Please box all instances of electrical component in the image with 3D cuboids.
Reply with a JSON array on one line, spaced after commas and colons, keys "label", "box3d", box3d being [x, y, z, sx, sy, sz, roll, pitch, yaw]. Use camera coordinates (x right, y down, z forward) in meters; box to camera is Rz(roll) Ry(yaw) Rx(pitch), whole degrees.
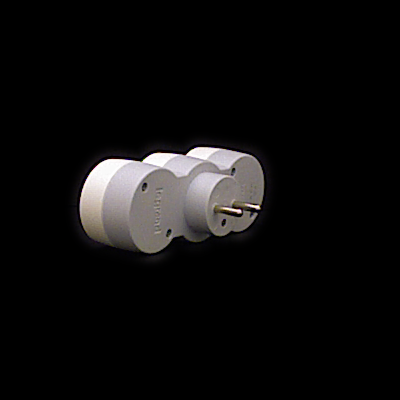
[{"label": "electrical component", "box3d": [0.000, 0.000, 0.648, 0.073, 0.052, 0.138, 11, 13, 35]}]
